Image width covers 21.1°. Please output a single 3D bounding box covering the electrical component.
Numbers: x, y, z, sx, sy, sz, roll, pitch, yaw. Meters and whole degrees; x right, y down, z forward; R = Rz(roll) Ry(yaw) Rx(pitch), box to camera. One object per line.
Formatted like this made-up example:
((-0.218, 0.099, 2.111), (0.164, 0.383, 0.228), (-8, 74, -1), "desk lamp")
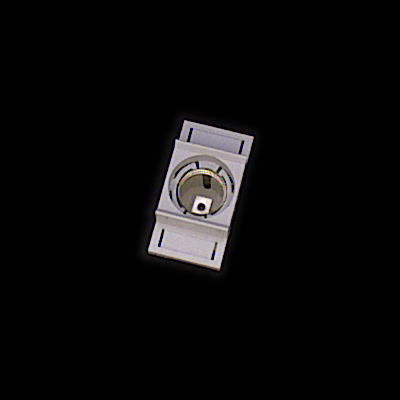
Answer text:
((0.000, 0.000, 0.623), (0.042, 0.081, 0.063), (14, -17, 4), "electrical component")
